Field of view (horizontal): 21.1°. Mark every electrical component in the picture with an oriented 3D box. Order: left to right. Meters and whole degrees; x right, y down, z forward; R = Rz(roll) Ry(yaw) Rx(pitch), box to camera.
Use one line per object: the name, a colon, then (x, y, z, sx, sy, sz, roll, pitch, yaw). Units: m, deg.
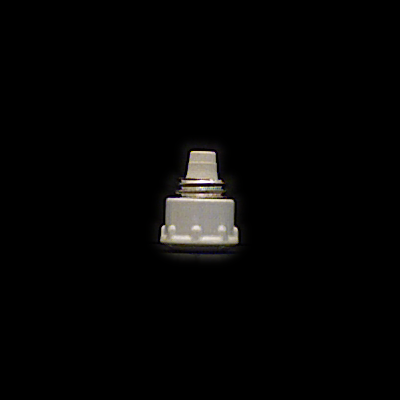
electrical component: (0.000, 0.000, 0.658, 0.048, 0.062, 0.048, 2, 2, 0)
